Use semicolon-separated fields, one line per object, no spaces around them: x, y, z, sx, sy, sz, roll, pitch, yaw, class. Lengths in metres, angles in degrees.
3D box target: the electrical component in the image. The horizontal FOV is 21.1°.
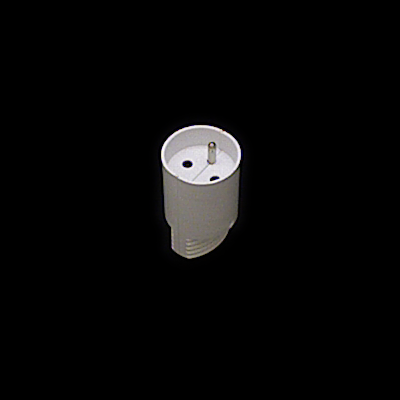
0.000;0.000;0.620;0.043;0.043;0.081;0;-38;-1;electrical component
